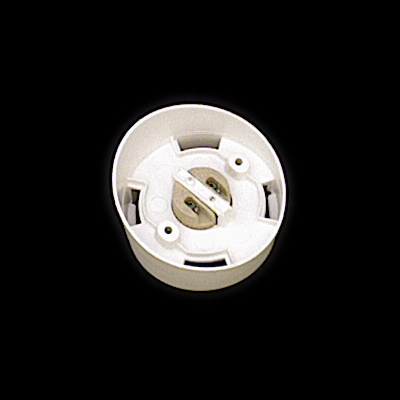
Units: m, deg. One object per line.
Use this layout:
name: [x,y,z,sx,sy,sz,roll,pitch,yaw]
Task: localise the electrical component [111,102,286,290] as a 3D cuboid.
electrical component: [0.000,0.000,0.624,0.099,0.099,0.064,0,-28,1]
